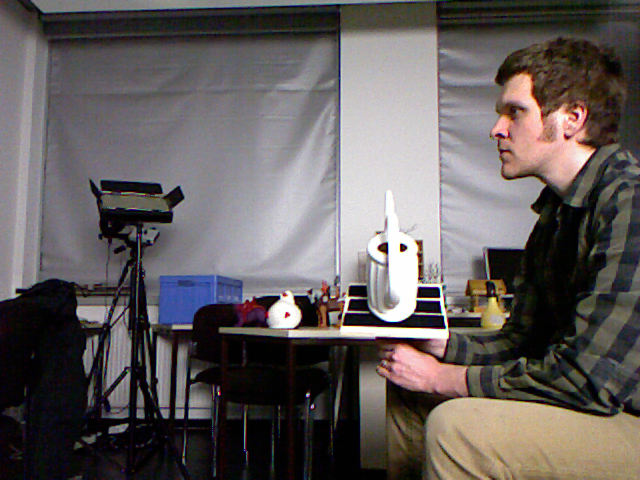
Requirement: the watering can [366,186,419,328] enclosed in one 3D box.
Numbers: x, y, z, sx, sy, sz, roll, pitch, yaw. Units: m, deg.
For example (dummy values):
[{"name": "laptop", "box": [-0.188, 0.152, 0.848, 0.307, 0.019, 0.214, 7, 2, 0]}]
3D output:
[{"name": "watering can", "box": [0.148, 0.033, 1.069, 0.104, 0.221, 0.355, 1, 25, 5]}]
